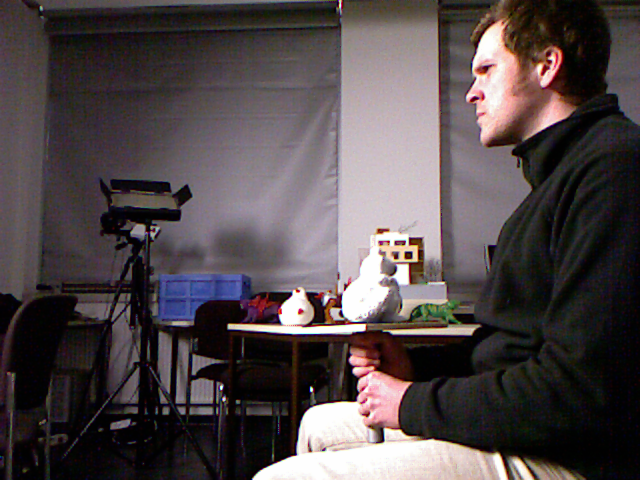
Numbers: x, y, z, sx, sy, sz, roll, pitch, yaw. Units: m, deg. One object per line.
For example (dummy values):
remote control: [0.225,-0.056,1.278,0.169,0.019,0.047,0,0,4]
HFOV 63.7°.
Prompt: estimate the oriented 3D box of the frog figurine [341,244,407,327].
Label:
frog figurine: [0.100,0.085,0.984,0.123,0.161,0.136,0,-9,-19]
